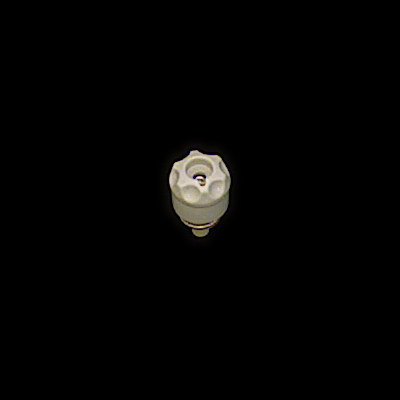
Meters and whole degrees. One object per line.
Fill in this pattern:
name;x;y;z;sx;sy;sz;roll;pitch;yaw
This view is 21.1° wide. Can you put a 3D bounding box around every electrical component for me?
electrical component;0.000;0.000;0.633;0.035;0.035;0.061;0;-37;0
